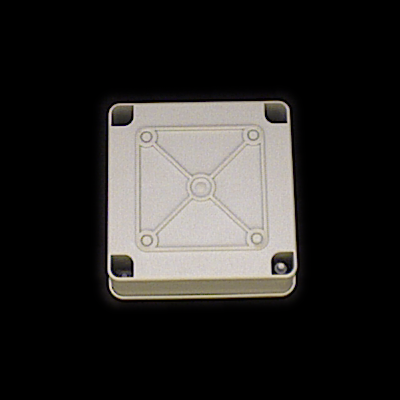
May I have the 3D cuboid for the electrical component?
[{"bbox_3d":[0.000,0.000,0.627,0.109,0.109,0.056,-1,-17,0],"label":"electrical component"}]
